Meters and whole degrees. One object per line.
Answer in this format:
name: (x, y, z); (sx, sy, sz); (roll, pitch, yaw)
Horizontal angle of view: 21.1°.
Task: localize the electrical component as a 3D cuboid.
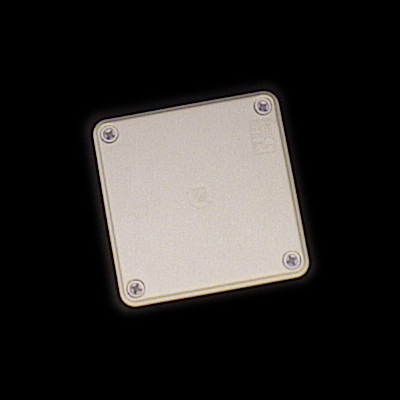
electrical component: (0.000, 0.000, 0.630); (0.109, 0.109, 0.056); (-10, -7, 0)
